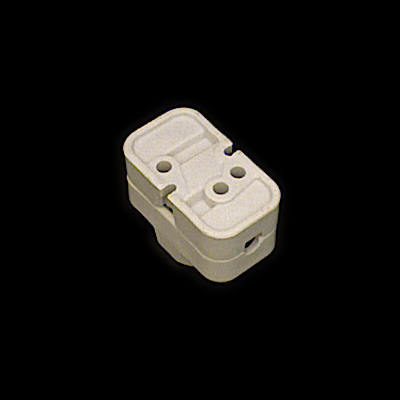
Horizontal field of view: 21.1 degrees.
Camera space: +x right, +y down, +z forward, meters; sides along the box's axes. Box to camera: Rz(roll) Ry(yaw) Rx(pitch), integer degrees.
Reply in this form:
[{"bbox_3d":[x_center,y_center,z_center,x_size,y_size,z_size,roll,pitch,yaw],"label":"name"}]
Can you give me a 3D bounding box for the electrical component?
[{"bbox_3d":[0.000,0.000,0.637,0.054,0.094,0.059,-33,-30,-23],"label":"electrical component"}]
